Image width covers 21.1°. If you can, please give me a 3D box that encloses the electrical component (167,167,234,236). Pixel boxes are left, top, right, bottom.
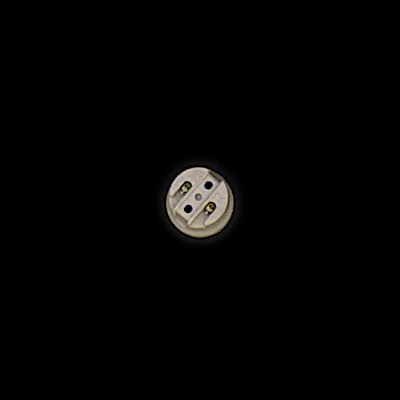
[{"bbox_3d":[0.000,0.000,0.634,0.040,0.040,0.046,0,-7,0],"label":"electrical component"}]
